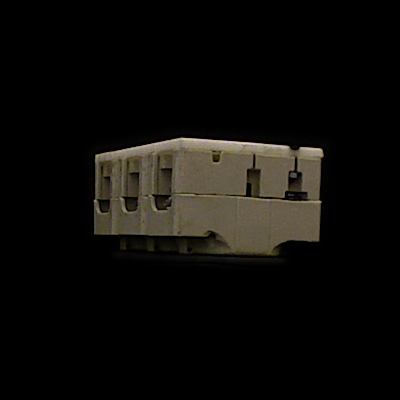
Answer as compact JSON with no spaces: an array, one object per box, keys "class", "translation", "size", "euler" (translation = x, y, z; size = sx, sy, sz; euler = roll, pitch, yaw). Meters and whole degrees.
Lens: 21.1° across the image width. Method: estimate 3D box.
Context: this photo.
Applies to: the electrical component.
[{"class":"electrical component","translation":[0.000,0.000,0.658],"size":[0.090,0.062,0.149],"euler":[2,-1,-23]}]
